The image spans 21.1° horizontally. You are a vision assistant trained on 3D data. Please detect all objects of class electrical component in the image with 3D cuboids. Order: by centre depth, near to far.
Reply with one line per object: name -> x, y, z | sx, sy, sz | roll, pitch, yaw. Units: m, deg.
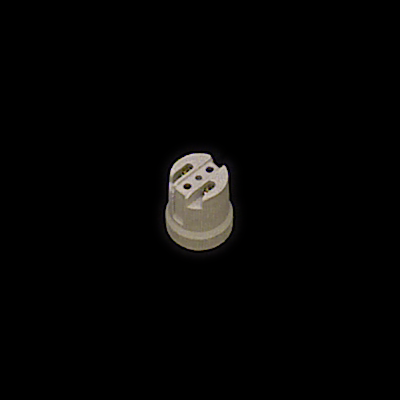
electrical component -> 0.000, 0.000, 0.634 | 0.040, 0.040, 0.046 | 0, -38, 0
